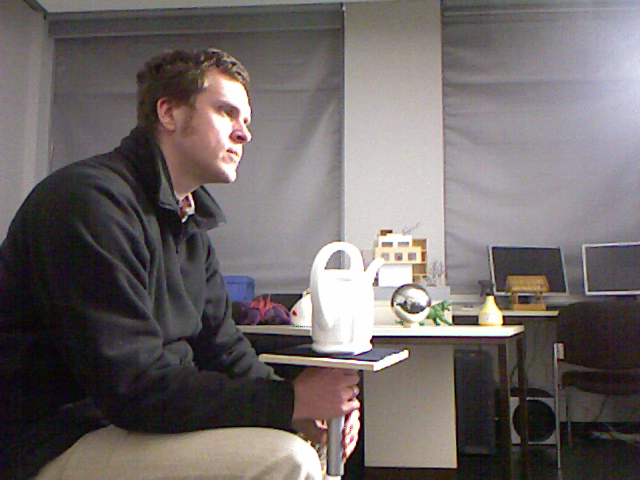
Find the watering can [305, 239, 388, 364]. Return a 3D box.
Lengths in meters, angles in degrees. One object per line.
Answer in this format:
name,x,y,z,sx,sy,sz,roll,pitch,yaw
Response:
watering can,0.060,0.114,0.949,0.104,0.225,0.347,3,-3,26
